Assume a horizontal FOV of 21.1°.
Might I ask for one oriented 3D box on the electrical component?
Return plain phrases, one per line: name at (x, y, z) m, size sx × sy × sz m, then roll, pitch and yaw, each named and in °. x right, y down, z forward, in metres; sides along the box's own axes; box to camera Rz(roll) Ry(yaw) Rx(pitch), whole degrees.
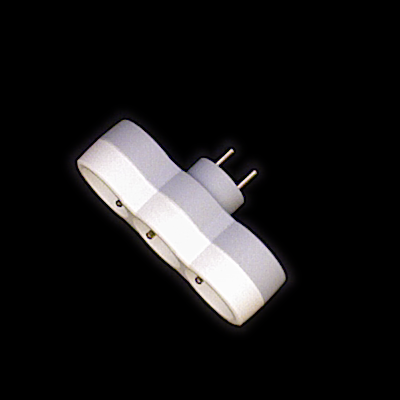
electrical component at (0.000, 0.000, 0.631) m, size 0.074 × 0.138 × 0.052 m, roll -44°, pitch -13°, yaw -14°
